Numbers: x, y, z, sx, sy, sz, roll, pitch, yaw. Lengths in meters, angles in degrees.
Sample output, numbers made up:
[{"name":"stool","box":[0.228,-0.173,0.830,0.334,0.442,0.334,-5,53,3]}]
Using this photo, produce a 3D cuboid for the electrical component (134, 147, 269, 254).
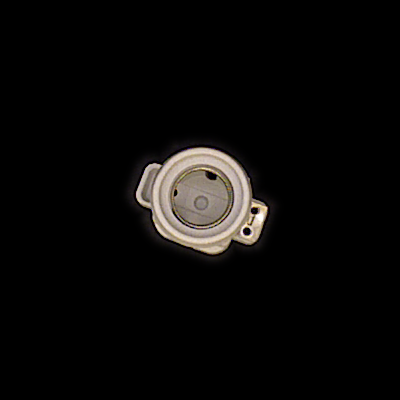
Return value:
[{"name":"electrical component","box":[0.000,0.000,0.630,0.078,0.058,0.056,20,-6,2]}]
